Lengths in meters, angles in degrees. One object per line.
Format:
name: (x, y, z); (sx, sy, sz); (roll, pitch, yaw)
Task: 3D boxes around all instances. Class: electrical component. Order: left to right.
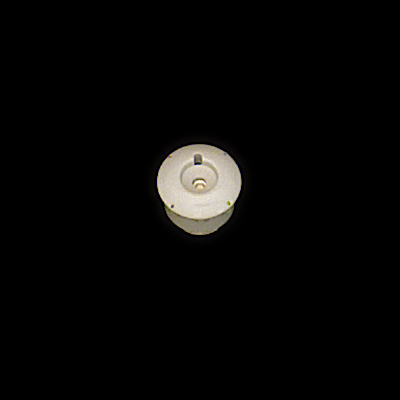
electrical component: (0.000, 0.000, 0.633); (0.048, 0.048, 0.062); (0, -27, 0)
